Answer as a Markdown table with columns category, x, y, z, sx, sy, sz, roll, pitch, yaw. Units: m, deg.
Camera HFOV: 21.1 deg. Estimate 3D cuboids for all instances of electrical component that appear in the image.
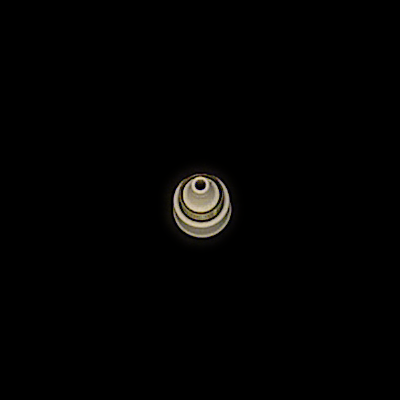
| category | x | y | z | sx | sy | sz | roll | pitch | yaw |
| --- | --- | --- | --- | --- | --- | --- | --- | --- | --- |
| electrical component | 0.000 | 0.000 | 0.637 | 0.035 | 0.035 | 0.061 | 0 | -18 | 1 |
